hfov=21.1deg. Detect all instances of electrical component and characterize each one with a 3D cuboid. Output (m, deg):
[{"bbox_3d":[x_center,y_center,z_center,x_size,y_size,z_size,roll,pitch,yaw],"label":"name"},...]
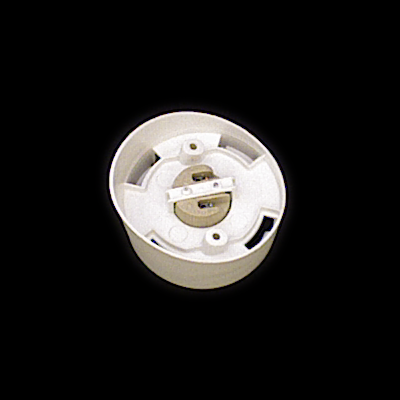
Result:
[{"bbox_3d":[0.000,0.000,0.624,0.099,0.099,0.064,0,-27,0],"label":"electrical component"}]
